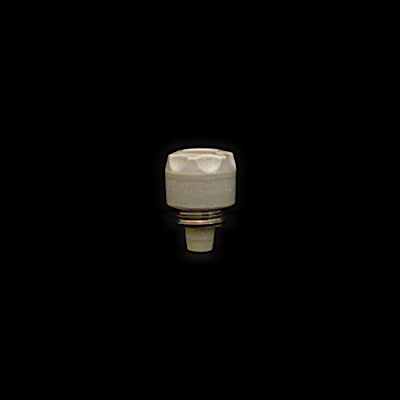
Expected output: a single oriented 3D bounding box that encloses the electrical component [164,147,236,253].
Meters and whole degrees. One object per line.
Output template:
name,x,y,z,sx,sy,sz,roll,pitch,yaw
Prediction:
electrical component,0.000,0.000,0.651,0.043,0.062,0.043,0,12,0
